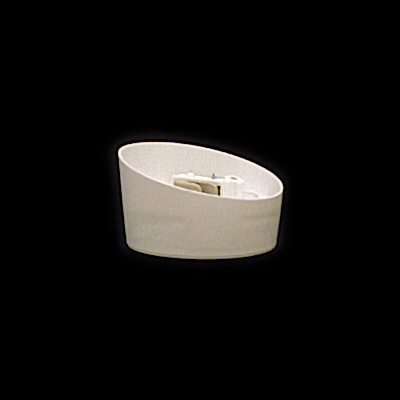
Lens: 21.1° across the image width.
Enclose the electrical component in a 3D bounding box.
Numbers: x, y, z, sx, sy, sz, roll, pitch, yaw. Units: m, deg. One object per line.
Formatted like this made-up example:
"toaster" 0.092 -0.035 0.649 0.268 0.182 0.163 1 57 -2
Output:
"electrical component" 0.000 0.000 0.643 0.099 0.064 0.098 0 10 0
